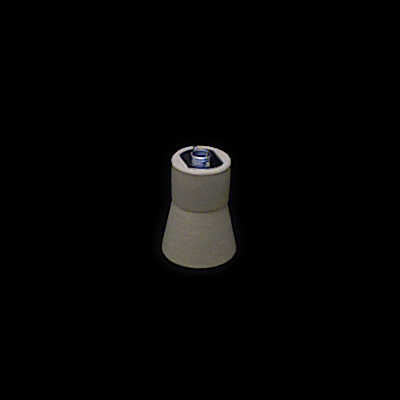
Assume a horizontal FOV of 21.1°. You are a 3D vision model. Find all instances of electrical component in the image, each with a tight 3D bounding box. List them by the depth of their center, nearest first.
[{"bbox_3d":[0.000,0.000,0.633,0.044,0.066,0.044,1,31,-1],"label":"electrical component"}]
